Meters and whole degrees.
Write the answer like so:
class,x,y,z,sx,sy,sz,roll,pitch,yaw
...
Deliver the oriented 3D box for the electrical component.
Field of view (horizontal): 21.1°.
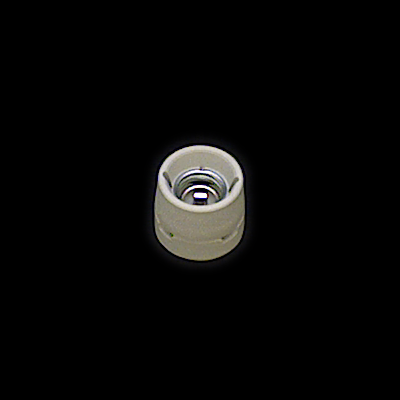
class,x,y,z,sx,sy,sz,roll,pitch,yaw
electrical component,0.000,0.000,0.634,0.055,0.055,0.047,0,-37,-2
